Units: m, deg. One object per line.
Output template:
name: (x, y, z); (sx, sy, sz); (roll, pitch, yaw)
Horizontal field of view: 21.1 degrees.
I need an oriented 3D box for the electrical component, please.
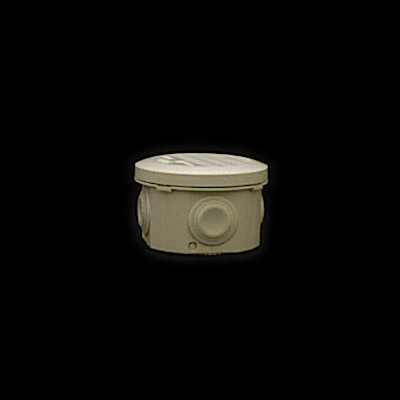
electrical component: (0.000, 0.000, 0.647); (0.080, 0.051, 0.079); (1, 10, 0)
